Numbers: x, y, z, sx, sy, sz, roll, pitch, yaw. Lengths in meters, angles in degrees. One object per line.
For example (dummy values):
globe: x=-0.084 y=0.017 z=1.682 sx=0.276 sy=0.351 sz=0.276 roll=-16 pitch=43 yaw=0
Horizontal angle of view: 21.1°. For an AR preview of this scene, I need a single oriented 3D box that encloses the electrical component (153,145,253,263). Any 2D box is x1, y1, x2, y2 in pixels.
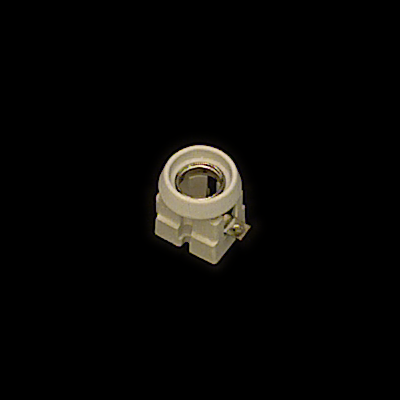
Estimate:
electrical component: x=0.000 y=0.000 z=0.638 sx=0.066 sy=0.048 sz=0.056 roll=26 pitch=-31 yaw=18
